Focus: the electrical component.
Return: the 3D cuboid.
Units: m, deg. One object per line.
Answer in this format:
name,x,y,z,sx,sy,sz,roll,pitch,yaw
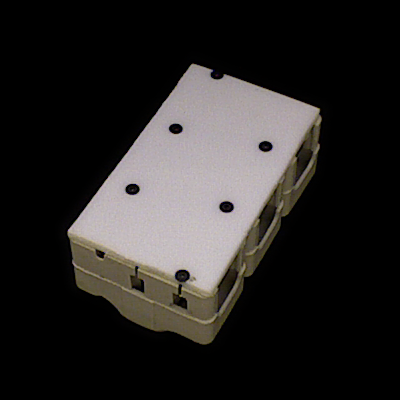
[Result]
electrical component,0.000,0.000,0.635,0.089,0.148,0.063,23,-35,16
